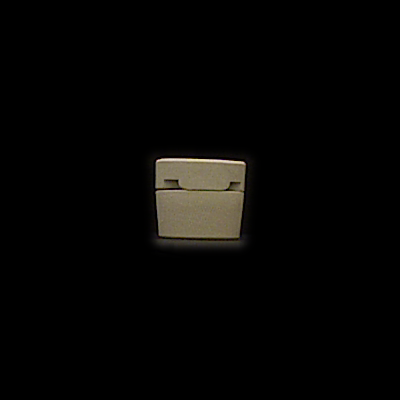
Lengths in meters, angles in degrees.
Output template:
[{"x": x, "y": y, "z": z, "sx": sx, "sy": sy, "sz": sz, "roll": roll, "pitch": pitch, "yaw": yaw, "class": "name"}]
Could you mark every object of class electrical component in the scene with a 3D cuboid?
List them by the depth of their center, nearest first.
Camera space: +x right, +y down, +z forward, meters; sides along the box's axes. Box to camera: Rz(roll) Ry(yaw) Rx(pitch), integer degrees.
[{"x": 0.000, "y": 0.000, "z": 0.651, "sx": 0.055, "sy": 0.047, "sz": 0.055, "roll": 1, "pitch": 1, "yaw": 0, "class": "electrical component"}]
